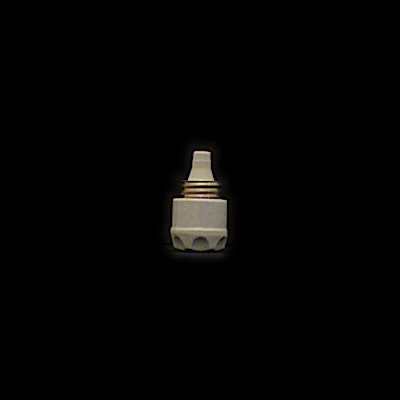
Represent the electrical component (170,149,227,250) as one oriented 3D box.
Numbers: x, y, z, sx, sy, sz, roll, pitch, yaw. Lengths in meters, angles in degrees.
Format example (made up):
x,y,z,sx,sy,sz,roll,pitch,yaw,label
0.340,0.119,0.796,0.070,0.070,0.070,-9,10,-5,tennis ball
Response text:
x,y,z,sx,sy,sz,roll,pitch,yaw,label
0.000,0.000,0.662,0.035,0.061,0.035,3,1,0,electrical component
